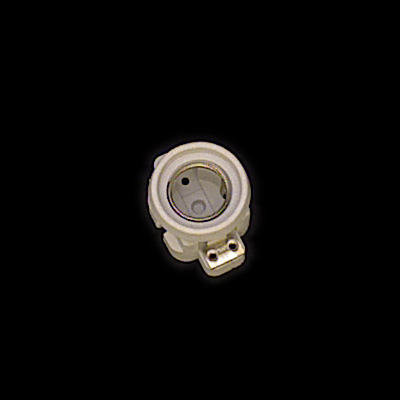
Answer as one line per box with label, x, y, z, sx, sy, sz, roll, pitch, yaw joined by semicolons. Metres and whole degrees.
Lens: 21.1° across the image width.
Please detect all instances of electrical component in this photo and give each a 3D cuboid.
electrical component;0.000;0.000;0.628;0.058;0.078;0.056;-26;-15;-8
